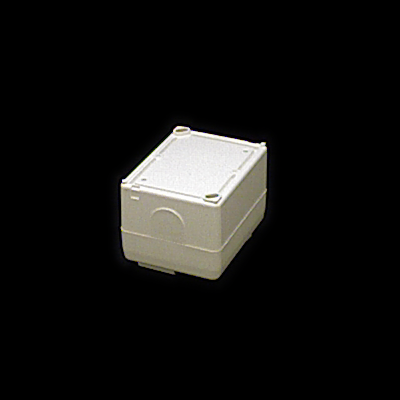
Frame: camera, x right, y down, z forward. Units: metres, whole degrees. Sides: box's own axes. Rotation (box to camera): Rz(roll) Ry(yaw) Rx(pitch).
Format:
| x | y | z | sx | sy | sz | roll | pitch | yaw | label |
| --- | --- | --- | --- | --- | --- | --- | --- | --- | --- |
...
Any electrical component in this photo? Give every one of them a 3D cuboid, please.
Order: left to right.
| x | y | z | sx | sy | sz | roll | pitch | yaw | label |
| --- | --- | --- | --- | --- | --- | --- | --- | --- | --- |
| 0.000 | 0.000 | 0.641 | 0.061 | 0.062 | 0.095 | 13 | 33 | 20 | electrical component |
